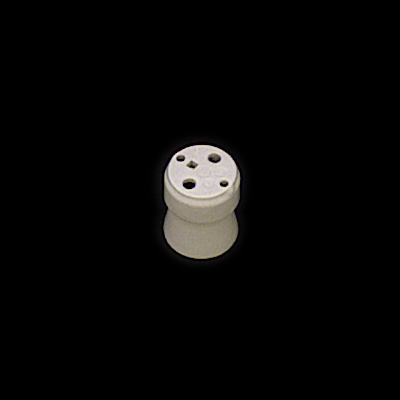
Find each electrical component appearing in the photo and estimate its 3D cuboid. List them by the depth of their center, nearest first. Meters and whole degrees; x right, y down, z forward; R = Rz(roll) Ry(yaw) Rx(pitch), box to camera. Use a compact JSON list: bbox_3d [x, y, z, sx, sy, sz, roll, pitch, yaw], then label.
[{"bbox_3d":[0.000,0.000,0.631,0.045,0.044,0.055,0,-37,-1],"label":"electrical component"}]
